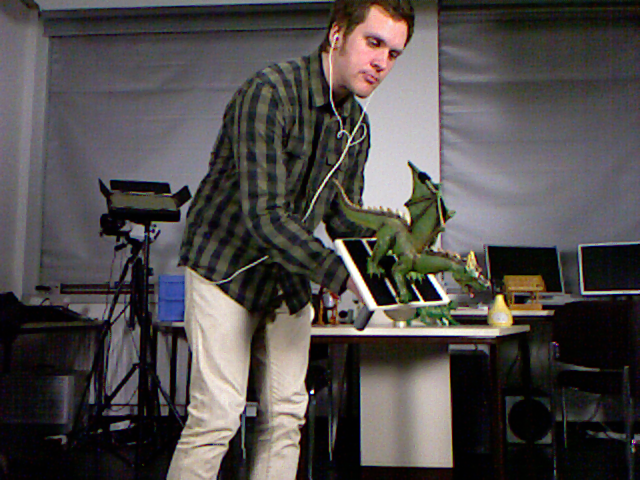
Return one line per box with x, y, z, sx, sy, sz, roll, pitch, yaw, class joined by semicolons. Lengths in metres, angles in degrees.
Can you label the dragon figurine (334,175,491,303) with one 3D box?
0.181;-0.033;1.072;0.123;0.417;0.238;-19;-32;-39;dragon figurine
